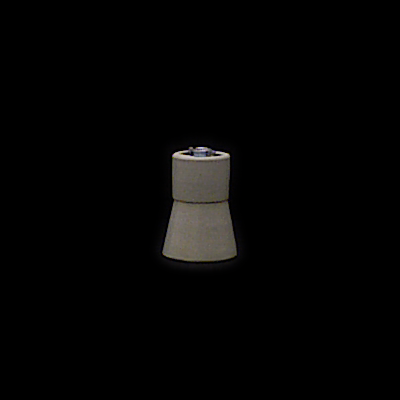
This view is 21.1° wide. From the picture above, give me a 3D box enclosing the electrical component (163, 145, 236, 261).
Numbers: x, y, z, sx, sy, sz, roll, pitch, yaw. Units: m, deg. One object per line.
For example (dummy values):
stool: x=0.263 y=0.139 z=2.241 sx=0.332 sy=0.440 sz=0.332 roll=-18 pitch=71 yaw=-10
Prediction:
electrical component: x=0.000 y=0.000 z=0.643 sx=0.044 sy=0.066 sz=0.044 roll=1 pitch=12 yaw=0
